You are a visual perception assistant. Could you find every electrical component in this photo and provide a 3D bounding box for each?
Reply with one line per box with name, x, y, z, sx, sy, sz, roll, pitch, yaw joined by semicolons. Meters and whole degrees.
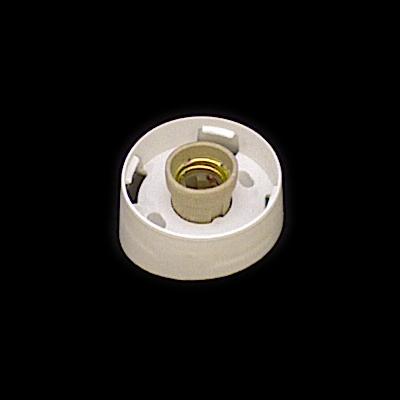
electrical component;0.000;0.000;0.626;0.099;0.098;0.064;0;-38;0
